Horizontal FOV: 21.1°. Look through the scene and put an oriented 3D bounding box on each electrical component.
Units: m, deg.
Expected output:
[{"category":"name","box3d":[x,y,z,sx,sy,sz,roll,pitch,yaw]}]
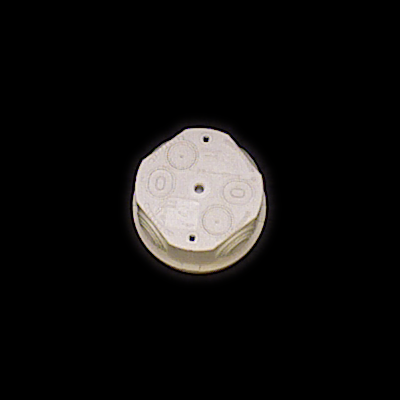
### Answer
[{"category":"electrical component","box3d":[0.000,0.000,0.631,0.080,0.080,0.050,0,-16,0]}]
